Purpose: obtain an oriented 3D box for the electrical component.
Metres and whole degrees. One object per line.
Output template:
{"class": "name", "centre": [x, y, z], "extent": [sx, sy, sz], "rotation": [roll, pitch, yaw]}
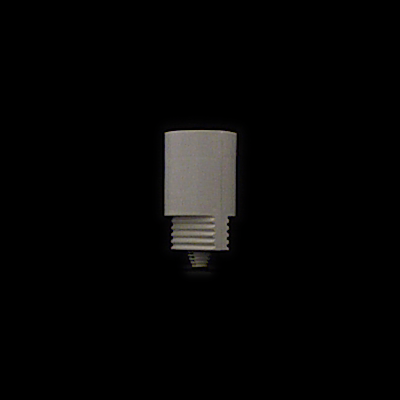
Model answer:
{"class": "electrical component", "centre": [0.000, 0.000, 0.649], "extent": [0.043, 0.081, 0.043], "rotation": [1, 0, 0]}
